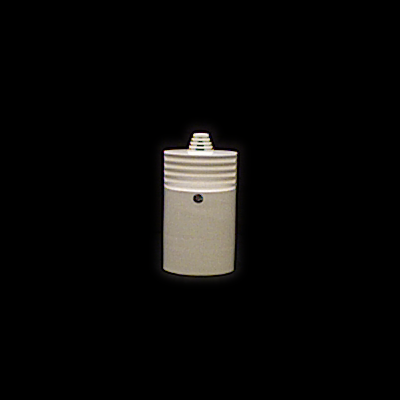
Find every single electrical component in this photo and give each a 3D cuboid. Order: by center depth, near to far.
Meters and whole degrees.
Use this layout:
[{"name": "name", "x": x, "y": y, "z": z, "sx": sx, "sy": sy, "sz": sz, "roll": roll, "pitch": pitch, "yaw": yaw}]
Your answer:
[{"name": "electrical component", "x": 0.000, "y": 0.000, "z": 0.642, "sx": 0.043, "sy": 0.081, "sz": 0.043, "roll": 1, "pitch": 11, "yaw": 0}]
